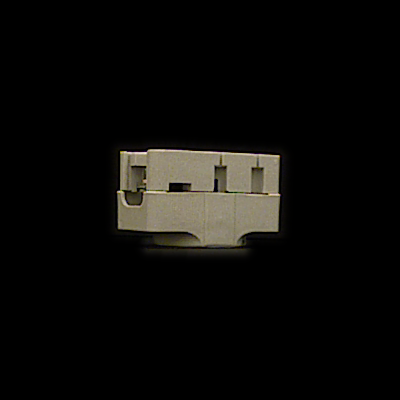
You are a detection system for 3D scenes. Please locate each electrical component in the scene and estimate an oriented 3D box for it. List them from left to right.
[{"bbox_3d":[0.000,0.000,0.657,0.090,0.056,0.050,1,1,-31],"label":"electrical component"}]
